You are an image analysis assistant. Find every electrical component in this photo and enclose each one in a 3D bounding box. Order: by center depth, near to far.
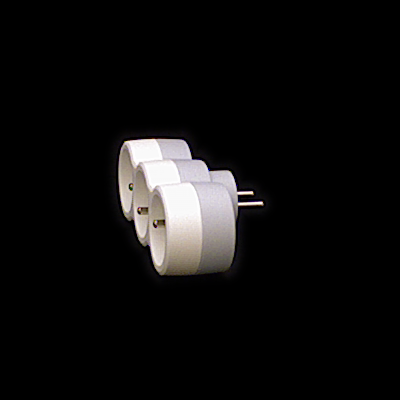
[{"bbox_3d":[0.000,0.000,0.643,0.074,0.053,0.136,-3,20,-16],"label":"electrical component"}]
